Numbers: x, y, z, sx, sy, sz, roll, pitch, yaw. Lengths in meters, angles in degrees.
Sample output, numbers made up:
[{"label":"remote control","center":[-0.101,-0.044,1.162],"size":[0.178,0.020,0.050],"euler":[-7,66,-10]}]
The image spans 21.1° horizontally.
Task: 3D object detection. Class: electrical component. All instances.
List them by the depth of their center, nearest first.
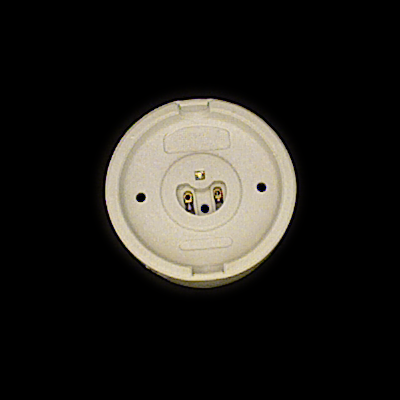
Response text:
[{"label":"electrical component","center":[0.000,0.000,0.634],"size":[0.108,0.108,0.060],"euler":[0,-16,0]}]
